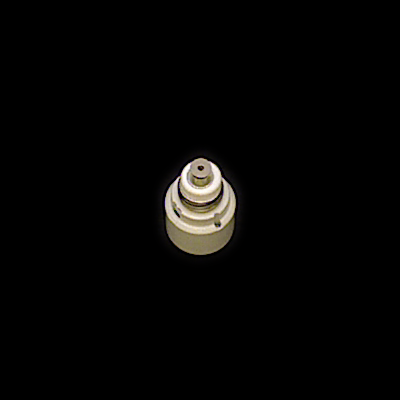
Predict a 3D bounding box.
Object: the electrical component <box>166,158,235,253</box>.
[{"bbox_3d":[0.000,0.000,0.619,0.040,0.040,0.078,0,-27,-1],"label":"electrical component"}]
